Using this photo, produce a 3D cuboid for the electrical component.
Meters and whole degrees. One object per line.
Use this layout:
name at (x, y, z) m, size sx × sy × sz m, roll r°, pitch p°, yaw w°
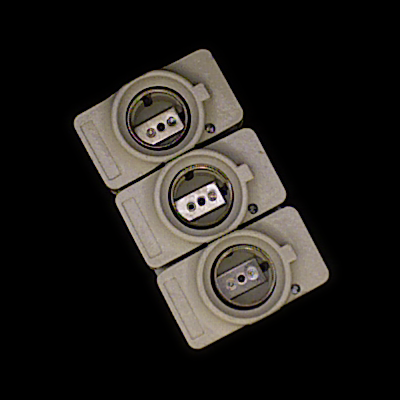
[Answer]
electrical component at (0.000, 0.000, 0.632) m, size 0.089 × 0.150 × 0.061 m, roll -28°, pitch -5°, yaw -3°
